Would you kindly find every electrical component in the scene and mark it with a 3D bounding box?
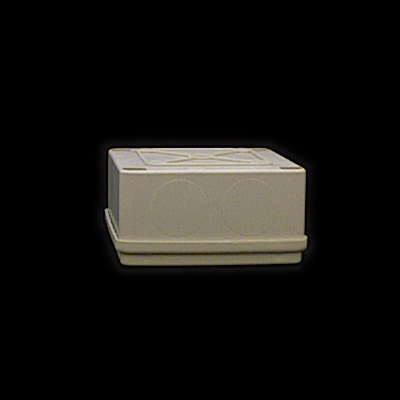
[{"bbox_3d":[0.000,0.000,0.644,0.109,0.056,0.107,-1,10,-9],"label":"electrical component"}]
